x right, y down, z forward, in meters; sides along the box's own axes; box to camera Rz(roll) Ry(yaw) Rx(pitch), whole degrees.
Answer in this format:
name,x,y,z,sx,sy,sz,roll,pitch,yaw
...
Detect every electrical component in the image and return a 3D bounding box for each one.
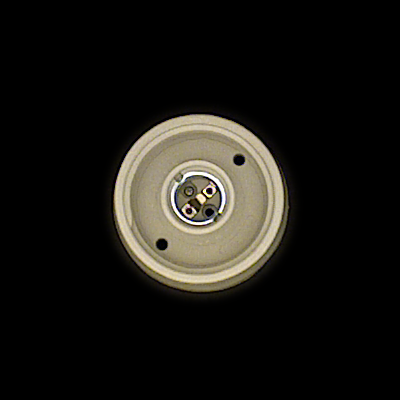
name,x,y,z,sx,sy,sz,roll,pitch,yaw
electrical component,0.000,0.000,0.635,0.108,0.108,0.060,0,-6,0
